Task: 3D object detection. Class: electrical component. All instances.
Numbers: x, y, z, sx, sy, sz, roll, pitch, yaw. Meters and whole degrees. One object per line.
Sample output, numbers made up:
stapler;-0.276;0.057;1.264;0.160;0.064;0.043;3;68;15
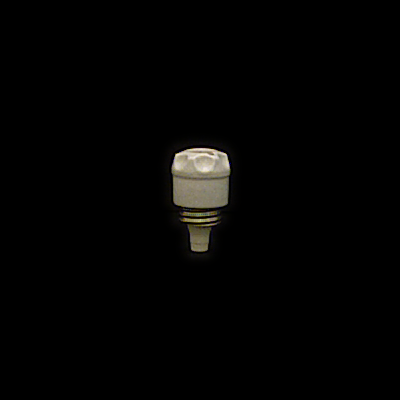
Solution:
electrical component;0.000;0.000;0.649;0.035;0.062;0.035;1;12;0
